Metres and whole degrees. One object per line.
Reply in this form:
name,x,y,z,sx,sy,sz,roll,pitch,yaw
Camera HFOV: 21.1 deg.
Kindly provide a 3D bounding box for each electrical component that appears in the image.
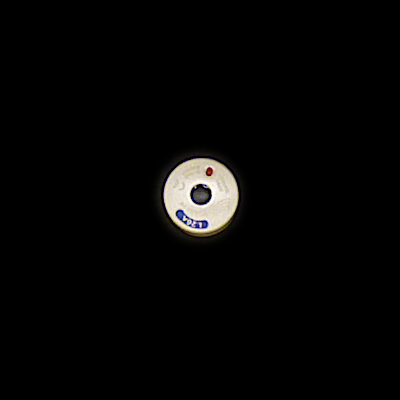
electrical component,0.000,0.000,0.618,0.040,0.040,0.078,0,-7,1
